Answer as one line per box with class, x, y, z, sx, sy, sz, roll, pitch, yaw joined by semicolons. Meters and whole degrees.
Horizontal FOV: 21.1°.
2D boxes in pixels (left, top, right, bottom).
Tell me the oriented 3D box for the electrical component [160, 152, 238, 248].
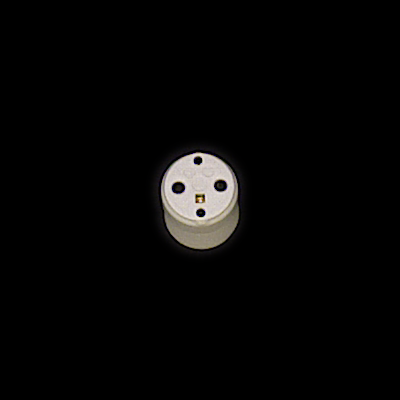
electrical component;0.000;0.000;0.629;0.045;0.045;0.055;0;-17;1
